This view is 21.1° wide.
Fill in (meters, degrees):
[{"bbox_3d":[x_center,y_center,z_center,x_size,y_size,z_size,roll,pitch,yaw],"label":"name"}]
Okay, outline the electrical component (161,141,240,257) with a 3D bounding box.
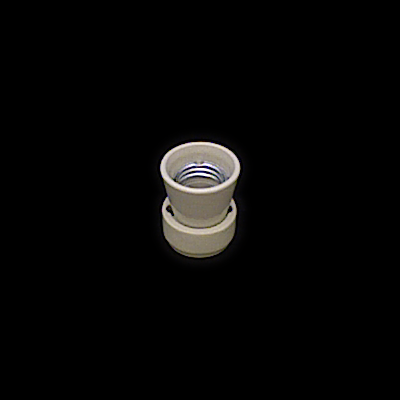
[{"bbox_3d":[0.000,0.000,0.631,0.045,0.055,0.044,0,43,0],"label":"electrical component"}]
